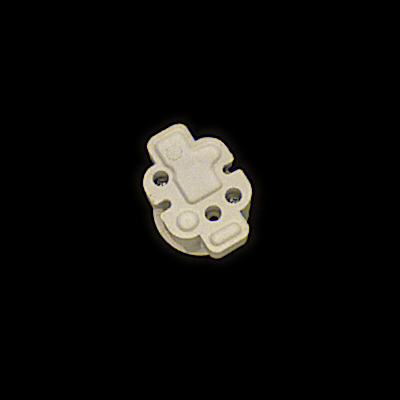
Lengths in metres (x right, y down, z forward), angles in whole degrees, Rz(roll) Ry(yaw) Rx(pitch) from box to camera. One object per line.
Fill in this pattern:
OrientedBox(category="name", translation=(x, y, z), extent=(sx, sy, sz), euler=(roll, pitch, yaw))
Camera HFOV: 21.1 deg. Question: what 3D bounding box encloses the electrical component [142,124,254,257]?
OrientedBox(category="electrical component", translation=(0.000, 0.000, 0.635), extent=(0.058, 0.078, 0.056), euler=(-31, -15, -8))
